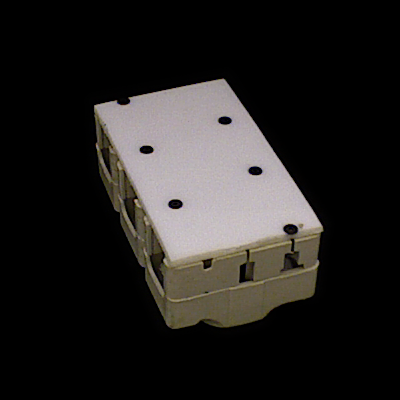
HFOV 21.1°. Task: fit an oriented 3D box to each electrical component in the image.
[{"bbox_3d":[0.000,0.000,0.638,0.089,0.063,0.147,-13,43,-15],"label":"electrical component"}]
